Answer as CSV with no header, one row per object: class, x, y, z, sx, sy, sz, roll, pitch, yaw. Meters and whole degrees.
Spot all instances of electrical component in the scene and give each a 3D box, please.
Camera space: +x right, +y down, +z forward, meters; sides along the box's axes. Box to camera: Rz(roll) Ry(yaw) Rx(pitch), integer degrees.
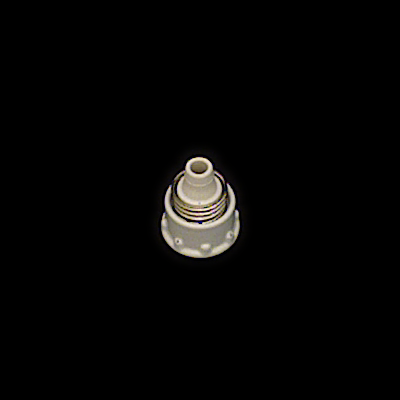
electrical component,0.000,0.000,0.636,0.048,0.048,0.062,0,-38,0
